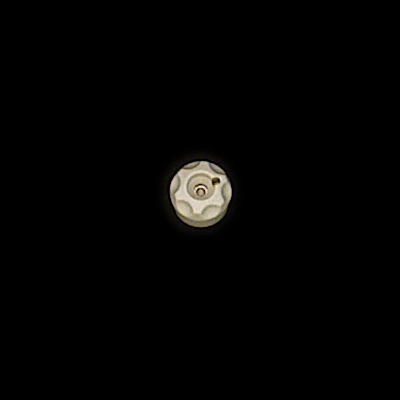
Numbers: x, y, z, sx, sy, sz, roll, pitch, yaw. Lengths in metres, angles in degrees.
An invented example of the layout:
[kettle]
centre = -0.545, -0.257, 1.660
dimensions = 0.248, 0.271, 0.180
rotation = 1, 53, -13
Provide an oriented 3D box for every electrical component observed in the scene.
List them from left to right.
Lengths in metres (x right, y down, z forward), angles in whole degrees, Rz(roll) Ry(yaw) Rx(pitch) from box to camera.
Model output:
[electrical component]
centre = 0.000, 0.000, 0.633
dimensions = 0.035, 0.035, 0.061
rotation = 0, -15, 1
